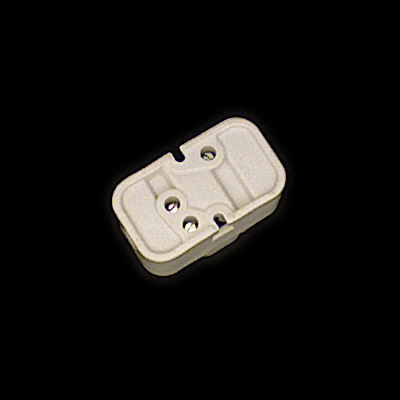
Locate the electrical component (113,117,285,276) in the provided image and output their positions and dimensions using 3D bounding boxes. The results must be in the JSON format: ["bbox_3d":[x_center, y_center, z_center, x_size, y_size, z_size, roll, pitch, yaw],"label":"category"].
[{"bbox_3d":[0.000,0.000,0.635,0.095,0.054,0.059,-31,-14,-9],"label":"electrical component"}]
